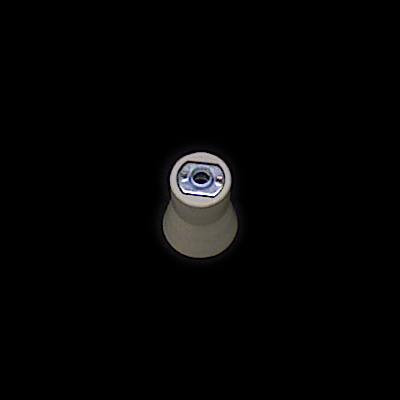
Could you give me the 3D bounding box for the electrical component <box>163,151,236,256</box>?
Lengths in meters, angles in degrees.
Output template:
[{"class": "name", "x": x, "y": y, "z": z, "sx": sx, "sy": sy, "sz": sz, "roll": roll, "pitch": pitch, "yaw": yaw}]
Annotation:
[{"class": "electrical component", "x": 0.000, "y": 0.000, "z": 0.624, "sx": 0.044, "sy": 0.044, "sz": 0.065, "roll": 0, "pitch": -26, "yaw": 0}]
